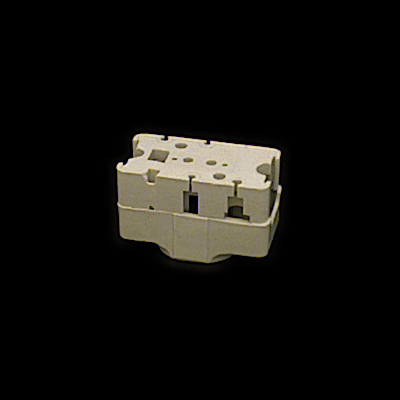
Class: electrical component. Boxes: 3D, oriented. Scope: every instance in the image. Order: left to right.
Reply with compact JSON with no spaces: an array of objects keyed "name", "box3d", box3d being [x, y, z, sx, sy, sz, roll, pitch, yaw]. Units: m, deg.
[{"name":"electrical component","box3d":[0.000,0.000,0.642,0.089,0.056,0.050,7,33,10]}]
